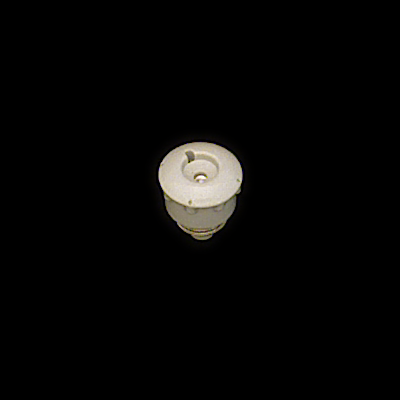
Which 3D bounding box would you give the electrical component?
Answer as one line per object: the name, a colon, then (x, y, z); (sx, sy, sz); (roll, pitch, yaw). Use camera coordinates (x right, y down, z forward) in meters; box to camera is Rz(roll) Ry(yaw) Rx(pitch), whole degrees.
electrical component: (0.000, 0.000, 0.634); (0.048, 0.048, 0.062); (0, -37, 0)
